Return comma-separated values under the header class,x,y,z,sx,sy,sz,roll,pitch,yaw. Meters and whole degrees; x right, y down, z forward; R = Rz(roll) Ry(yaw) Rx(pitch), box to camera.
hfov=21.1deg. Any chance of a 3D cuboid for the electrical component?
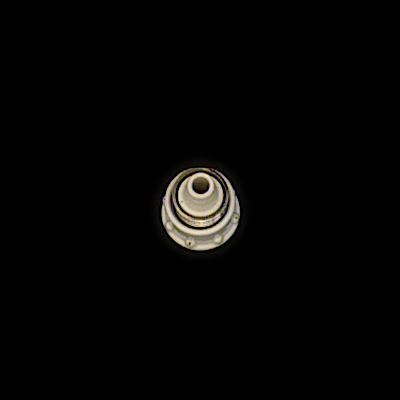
class,x,y,z,sx,sy,sz,roll,pitch,yaw
electrical component,0.000,0.000,0.634,0.048,0.048,0.061,0,-17,-1
